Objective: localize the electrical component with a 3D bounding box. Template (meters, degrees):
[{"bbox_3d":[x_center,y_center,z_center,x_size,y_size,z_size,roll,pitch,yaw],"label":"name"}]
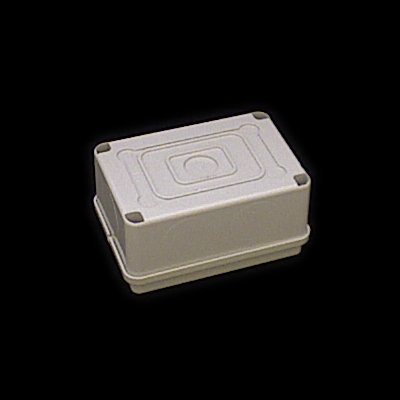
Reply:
[{"bbox_3d":[0.000,0.000,0.631,0.113,0.057,0.077,-13,44,-14],"label":"electrical component"}]
